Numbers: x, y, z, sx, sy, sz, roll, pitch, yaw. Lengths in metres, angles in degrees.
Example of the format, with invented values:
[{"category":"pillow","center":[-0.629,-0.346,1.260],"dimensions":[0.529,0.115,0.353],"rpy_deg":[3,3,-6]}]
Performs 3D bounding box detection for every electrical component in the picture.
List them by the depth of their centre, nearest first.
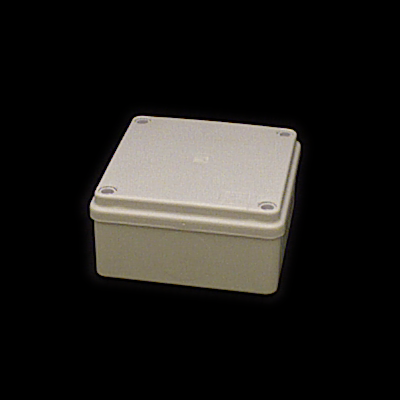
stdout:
[{"category":"electrical component","center":[0.000,0.000,0.637],"dimensions":[0.108,0.057,0.107],"rpy_deg":[6,31,8]}]
